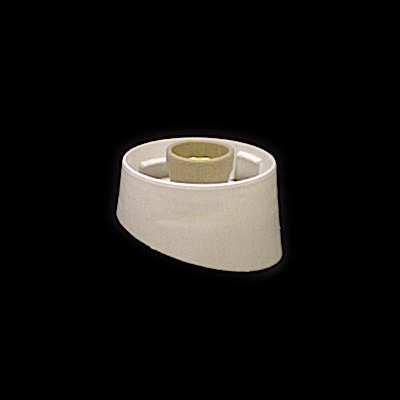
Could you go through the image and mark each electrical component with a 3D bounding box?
[{"bbox_3d":[0.000,0.000,0.637,0.099,0.065,0.097,2,21,0],"label":"electrical component"}]
